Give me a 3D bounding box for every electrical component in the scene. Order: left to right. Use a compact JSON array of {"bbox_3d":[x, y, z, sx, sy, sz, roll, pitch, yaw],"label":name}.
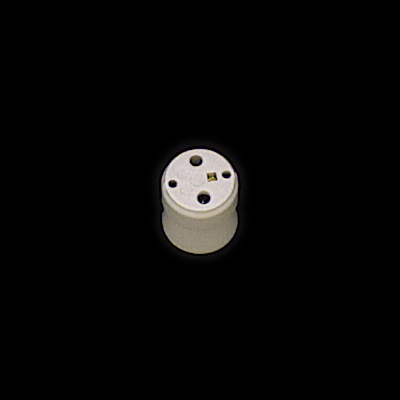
[{"bbox_3d":[0.000,0.000,0.628,0.045,0.045,0.055,0,-26,0],"label":"electrical component"}]
